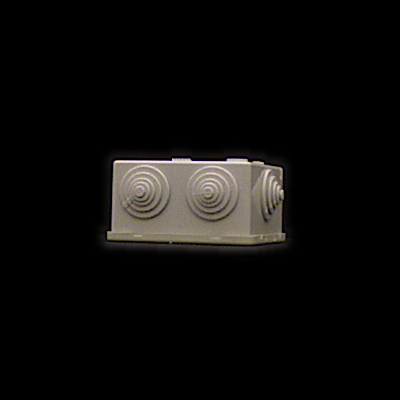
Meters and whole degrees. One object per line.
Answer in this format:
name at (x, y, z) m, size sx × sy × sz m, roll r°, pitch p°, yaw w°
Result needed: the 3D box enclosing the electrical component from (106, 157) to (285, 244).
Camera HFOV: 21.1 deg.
electrical component at (0.000, 0.000, 0.650) m, size 0.099 × 0.048 × 0.100 m, roll 1°, pitch 0°, yaw 17°
